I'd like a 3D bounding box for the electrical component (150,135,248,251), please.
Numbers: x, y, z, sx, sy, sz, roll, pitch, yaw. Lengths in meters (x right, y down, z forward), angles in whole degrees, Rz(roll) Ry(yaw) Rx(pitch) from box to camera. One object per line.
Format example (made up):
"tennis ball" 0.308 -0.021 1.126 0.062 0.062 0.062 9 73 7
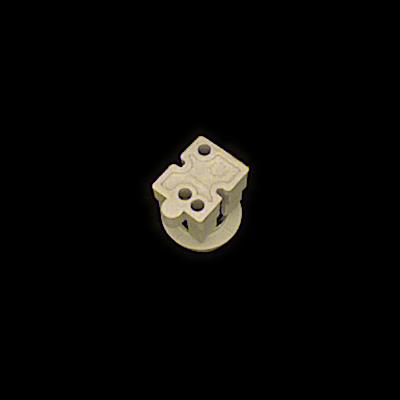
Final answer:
"electrical component" 0.000 0.000 0.636 0.048 0.067 0.055 36 -22 18
